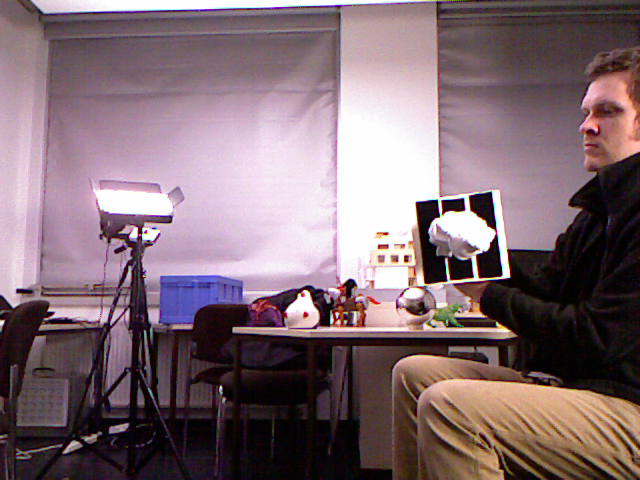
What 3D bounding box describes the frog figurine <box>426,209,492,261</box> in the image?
[{"bbox_3d":[0.305,-0.014,1.125,0.138,0.124,0.159,11,-6,8],"label":"frog figurine"}]
